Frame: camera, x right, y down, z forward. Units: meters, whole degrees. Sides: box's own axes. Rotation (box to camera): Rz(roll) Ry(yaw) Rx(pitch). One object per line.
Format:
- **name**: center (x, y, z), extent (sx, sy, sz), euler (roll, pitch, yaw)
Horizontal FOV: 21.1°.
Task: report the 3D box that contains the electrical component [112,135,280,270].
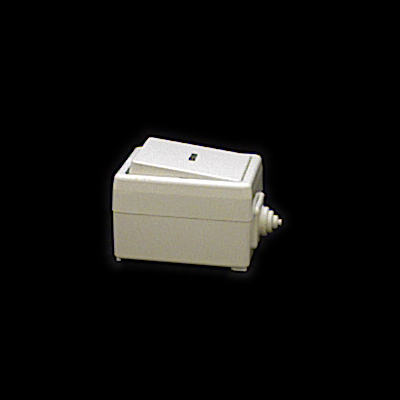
- **electrical component**: center (0.000, 0.000, 0.638), extent (0.096, 0.061, 0.061), euler (4, 21, 8)
